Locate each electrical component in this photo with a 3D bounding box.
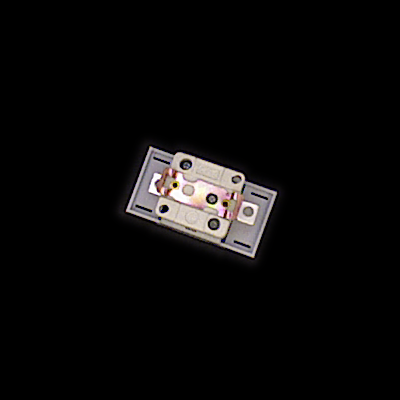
[{"bbox_3d":[0.000,0.000,0.626,0.081,0.042,0.063,19,-5,2],"label":"electrical component"}]
